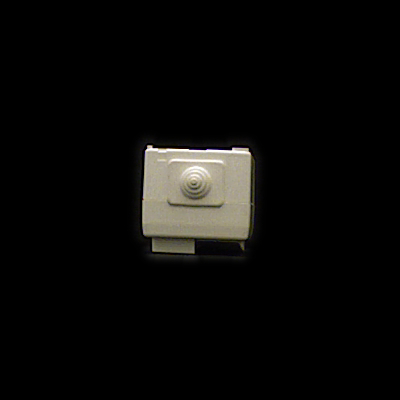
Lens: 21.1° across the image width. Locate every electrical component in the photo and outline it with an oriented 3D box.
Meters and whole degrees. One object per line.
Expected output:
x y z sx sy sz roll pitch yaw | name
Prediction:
0.000 0.000 0.642 0.062 0.061 0.096 2 0 4 | electrical component
